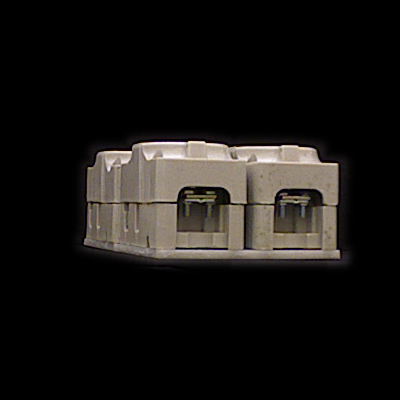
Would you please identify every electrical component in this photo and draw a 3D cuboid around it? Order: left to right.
[{"bbox_3d":[0.000,0.000,0.650,0.106,0.060,0.186,1,0,-18],"label":"electrical component"}]
